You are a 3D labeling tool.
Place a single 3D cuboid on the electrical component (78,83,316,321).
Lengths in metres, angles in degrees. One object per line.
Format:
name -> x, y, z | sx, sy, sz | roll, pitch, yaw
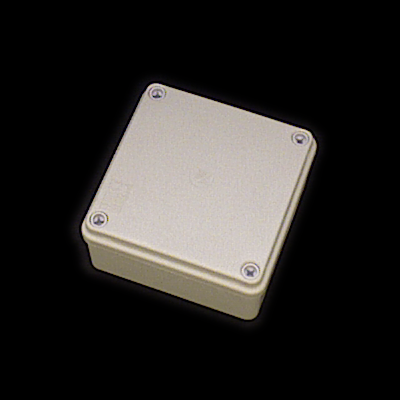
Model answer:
electrical component -> 0.000, 0.000, 0.630 | 0.108, 0.109, 0.056 | 18, -26, 9
